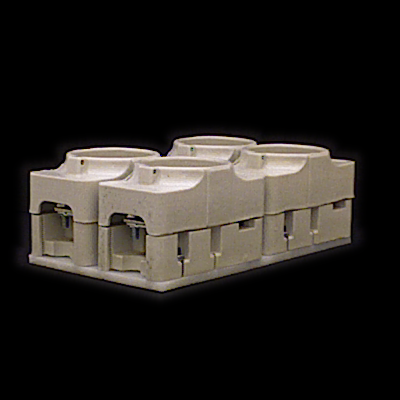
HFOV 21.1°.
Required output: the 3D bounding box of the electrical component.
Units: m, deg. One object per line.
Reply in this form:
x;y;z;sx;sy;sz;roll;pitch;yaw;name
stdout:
0.000;0.000;0.643;0.105;0.061;0.186;10;13;39;electrical component
